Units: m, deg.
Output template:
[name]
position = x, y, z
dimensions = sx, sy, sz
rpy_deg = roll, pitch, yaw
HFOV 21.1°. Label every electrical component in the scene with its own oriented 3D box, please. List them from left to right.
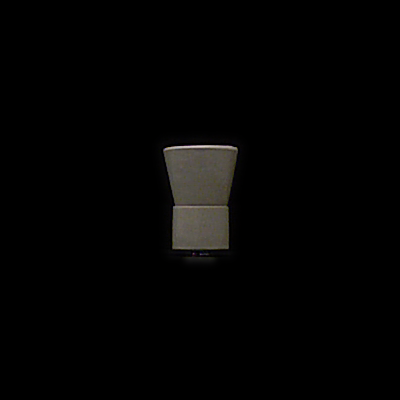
[electrical component]
position = 0.000, 0.000, 0.649
dimensions = 0.044, 0.065, 0.044
rpy_deg = 0, 1, 0
